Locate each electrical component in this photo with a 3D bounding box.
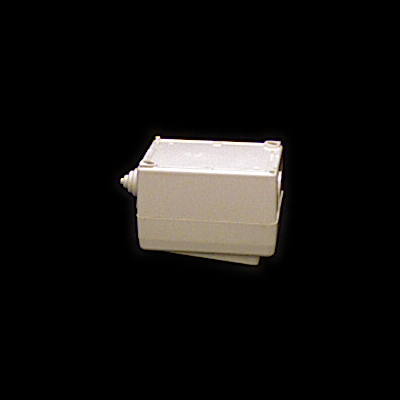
[{"bbox_3d":[0.000,0.000,0.642,0.096,0.061,0.061,3,21,6],"label":"electrical component"}]
